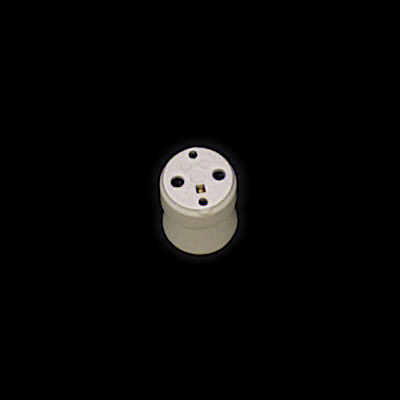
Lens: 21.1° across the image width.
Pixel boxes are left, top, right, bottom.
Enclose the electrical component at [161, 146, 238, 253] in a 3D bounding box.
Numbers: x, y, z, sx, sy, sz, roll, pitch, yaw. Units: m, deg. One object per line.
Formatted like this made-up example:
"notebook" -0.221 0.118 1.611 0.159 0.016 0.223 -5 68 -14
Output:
"electrical component" 0.000 0.000 0.629 0.045 0.045 0.055 0 -27 0
